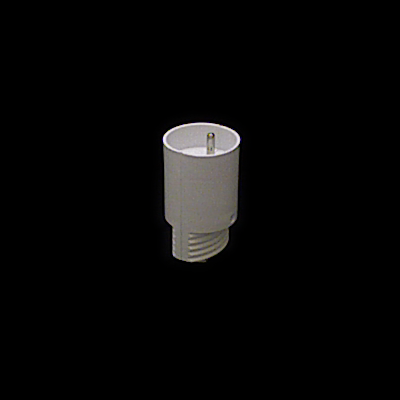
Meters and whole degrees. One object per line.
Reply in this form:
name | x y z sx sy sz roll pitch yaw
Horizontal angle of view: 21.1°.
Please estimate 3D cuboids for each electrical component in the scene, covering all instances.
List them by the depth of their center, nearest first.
electrical component | 0.000 0.000 0.630 0.043 0.082 0.042 1 31 -1
